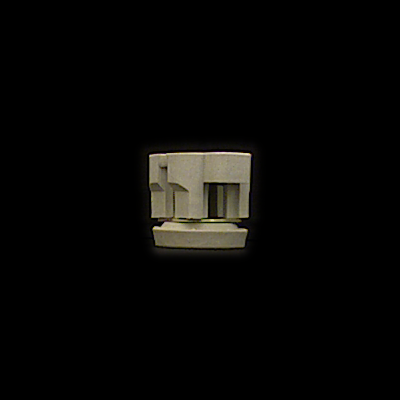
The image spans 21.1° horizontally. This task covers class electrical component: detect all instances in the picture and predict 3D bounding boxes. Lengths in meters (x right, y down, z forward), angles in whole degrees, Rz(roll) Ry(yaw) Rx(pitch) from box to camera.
[{"bbox_3d":[0.000,0.000,0.656,0.058,0.057,0.077,-1,0,-35],"label":"electrical component"}]
